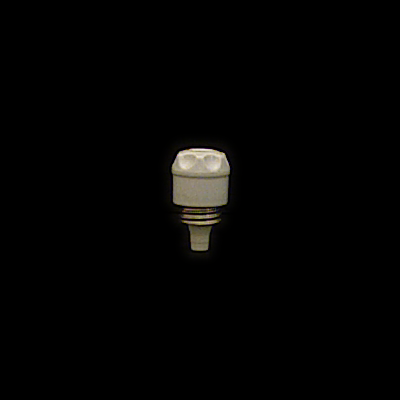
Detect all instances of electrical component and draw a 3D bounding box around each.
[{"bbox_3d":[0.000,0.000,0.653,0.035,0.062,0.035,1,12,0],"label":"electrical component"}]
